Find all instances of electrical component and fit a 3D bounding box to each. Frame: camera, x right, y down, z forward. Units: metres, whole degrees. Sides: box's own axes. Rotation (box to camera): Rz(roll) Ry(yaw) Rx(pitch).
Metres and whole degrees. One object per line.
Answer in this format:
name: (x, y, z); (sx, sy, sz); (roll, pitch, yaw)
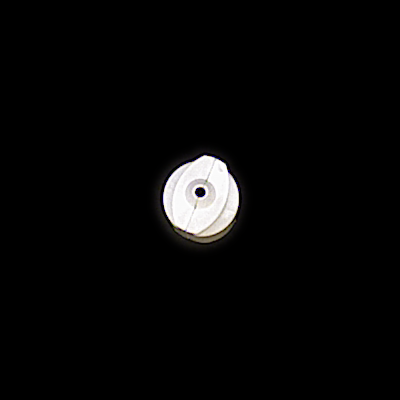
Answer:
electrical component: (0.000, 0.000, 0.616); (0.043, 0.043, 0.080); (0, -6, 1)
